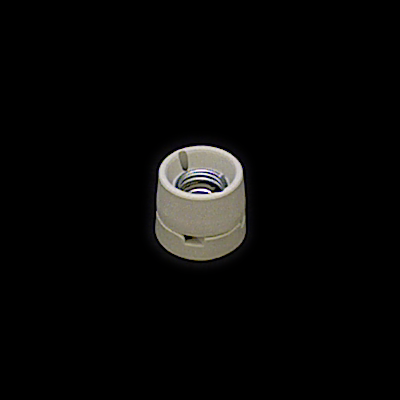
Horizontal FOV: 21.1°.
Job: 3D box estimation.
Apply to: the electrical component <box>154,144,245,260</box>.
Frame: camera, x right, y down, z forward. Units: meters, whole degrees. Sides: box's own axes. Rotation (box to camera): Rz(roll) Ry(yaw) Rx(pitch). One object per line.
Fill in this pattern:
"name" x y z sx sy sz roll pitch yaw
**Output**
"electrical component" 0.000 0.000 0.637 0.055 0.047 0.055 0 41 0
